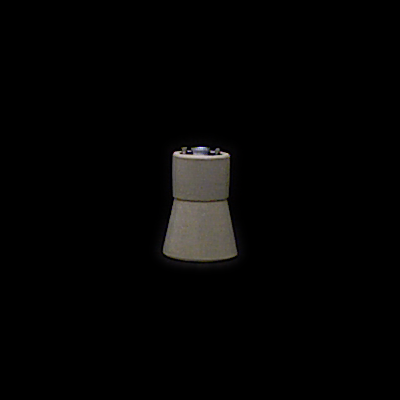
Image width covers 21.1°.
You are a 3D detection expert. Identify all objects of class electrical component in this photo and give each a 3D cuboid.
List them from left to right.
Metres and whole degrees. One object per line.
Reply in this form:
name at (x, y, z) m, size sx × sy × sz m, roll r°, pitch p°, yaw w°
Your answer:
electrical component at (0.000, 0.000, 0.645) m, size 0.044 × 0.066 × 0.044 m, roll 1°, pitch 10°, yaw 0°
